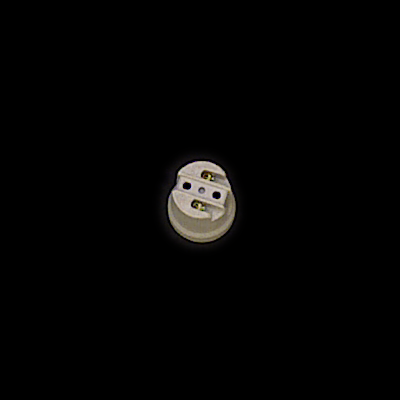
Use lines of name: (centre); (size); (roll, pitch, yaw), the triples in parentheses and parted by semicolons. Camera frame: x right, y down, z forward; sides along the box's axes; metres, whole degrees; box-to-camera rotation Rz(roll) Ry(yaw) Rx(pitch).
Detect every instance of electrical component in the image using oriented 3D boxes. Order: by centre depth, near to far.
electrical component: (0.000, 0.000, 0.633); (0.040, 0.040, 0.046); (0, -16, 1)
